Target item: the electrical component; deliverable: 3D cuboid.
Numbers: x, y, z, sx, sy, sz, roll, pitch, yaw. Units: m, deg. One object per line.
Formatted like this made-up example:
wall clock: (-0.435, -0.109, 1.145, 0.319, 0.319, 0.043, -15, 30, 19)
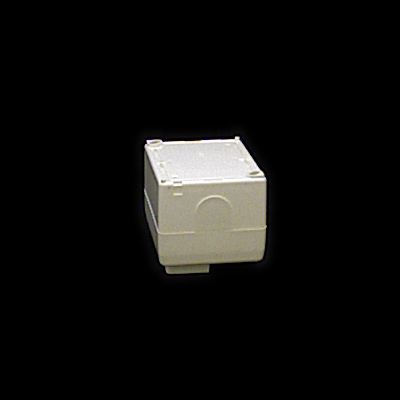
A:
electrical component: (0.000, 0.000, 0.646, 0.062, 0.062, 0.095, -3, 21, -9)
